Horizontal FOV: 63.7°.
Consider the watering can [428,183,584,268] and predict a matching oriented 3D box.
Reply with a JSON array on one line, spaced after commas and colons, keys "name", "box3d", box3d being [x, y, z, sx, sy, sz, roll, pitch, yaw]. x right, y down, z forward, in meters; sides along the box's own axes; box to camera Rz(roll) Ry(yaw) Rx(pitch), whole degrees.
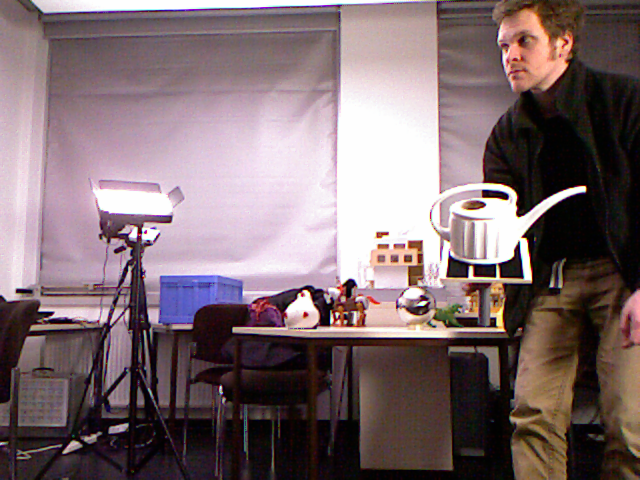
[{"name": "watering can", "box3d": [0.440, -0.036, 1.249, 0.348, 0.220, 0.107, 0, 33, 16]}]
